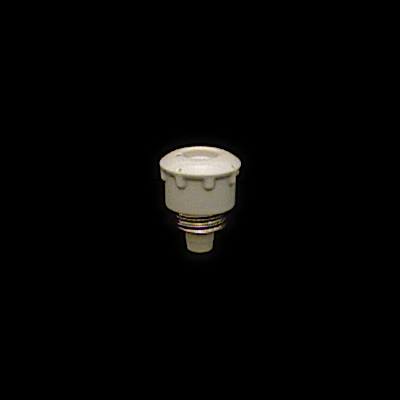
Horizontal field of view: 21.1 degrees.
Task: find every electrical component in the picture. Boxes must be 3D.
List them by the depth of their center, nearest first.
[{"bbox_3d":[0.000,0.000,0.643,0.048,0.062,0.047,1,21,0],"label":"electrical component"}]
